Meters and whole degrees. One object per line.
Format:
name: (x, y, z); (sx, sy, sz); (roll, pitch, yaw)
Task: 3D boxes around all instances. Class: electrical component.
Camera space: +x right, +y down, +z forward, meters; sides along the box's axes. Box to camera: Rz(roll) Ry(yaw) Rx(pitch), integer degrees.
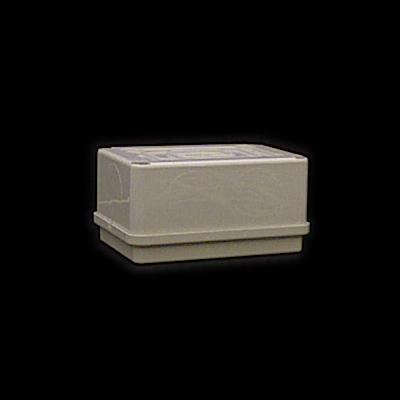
electrical component: (0.000, 0.000, 0.644); (0.113, 0.057, 0.077); (-4, 12, -22)
